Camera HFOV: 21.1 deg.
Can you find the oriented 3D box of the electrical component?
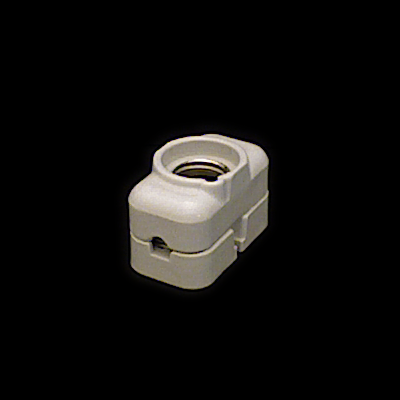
[{"bbox_3d":[0.000,0.000,0.640,0.053,0.060,0.095,17,36,25],"label":"electrical component"}]
